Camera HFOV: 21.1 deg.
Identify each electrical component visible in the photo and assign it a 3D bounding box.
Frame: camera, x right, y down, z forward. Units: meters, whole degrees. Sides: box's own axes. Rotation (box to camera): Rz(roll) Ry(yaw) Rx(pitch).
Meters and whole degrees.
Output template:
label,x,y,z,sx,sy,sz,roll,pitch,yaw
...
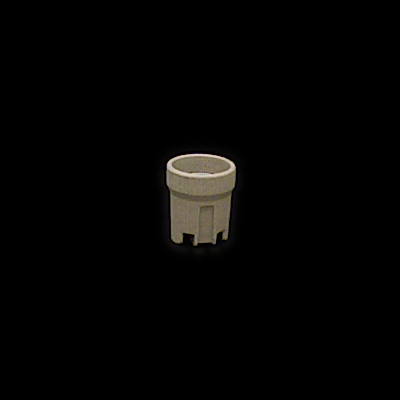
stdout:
label,x,y,z,sx,sy,sz,roll,pitch,yaw
electrical component,0.000,0.000,0.637,0.040,0.047,0.039,1,21,0
